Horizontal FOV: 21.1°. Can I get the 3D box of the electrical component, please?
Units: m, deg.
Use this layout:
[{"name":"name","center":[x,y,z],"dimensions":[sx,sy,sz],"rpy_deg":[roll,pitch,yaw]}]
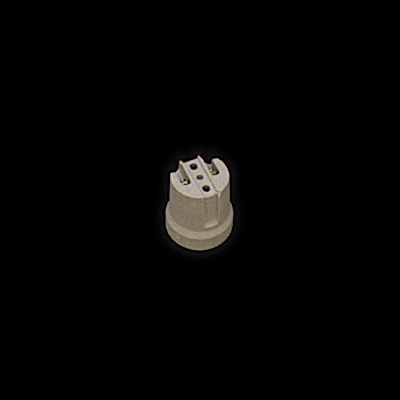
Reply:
[{"name":"electrical component","center":[0.000,0.000,0.635],"dimensions":[0.040,0.040,0.046],"rpy_deg":[0,-37,-1]}]
